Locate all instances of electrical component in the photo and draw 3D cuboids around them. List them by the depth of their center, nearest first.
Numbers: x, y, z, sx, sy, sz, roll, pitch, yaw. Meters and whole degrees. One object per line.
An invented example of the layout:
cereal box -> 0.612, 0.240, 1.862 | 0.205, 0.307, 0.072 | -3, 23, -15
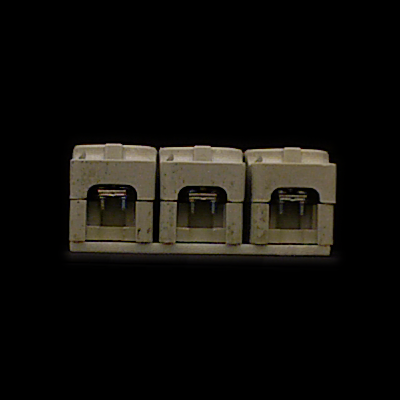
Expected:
electrical component -> 0.000, 0.000, 0.655 | 0.150, 0.062, 0.089 | 1, 0, -3
